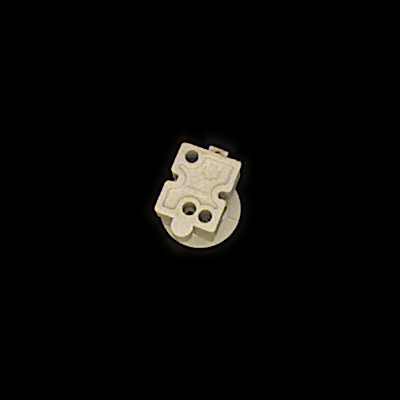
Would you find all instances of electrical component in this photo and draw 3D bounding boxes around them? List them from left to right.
[{"bbox_3d":[0.000,0.000,0.637,0.048,0.067,0.055,20,-16,7],"label":"electrical component"}]
